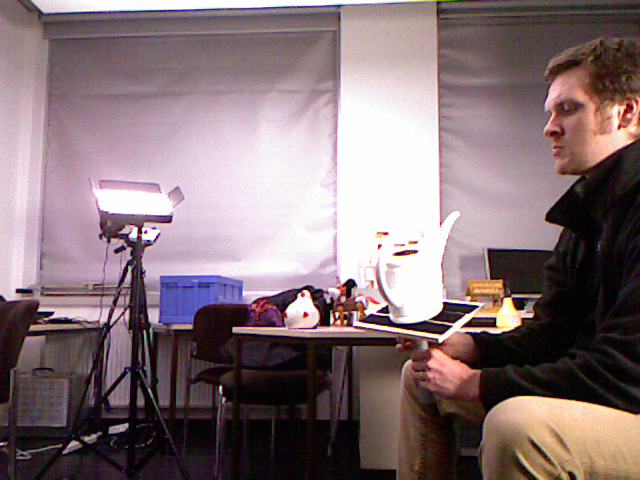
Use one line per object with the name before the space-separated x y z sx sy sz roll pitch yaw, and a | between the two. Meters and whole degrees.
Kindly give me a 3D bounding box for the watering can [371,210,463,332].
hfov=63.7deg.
watering can | 0.226 0.062 1.114 0.104 0.222 0.351 8 20 42
